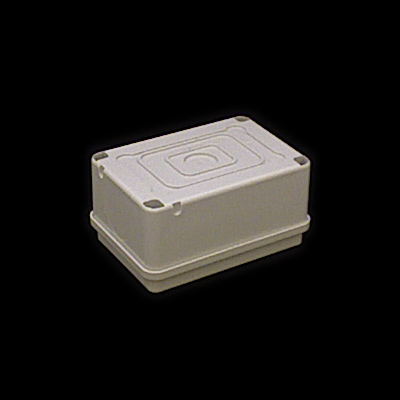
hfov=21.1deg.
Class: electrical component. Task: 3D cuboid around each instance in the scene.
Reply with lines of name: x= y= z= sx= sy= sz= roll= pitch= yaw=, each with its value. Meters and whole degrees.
electrical component: x=0.000 y=0.000 z=0.635 sx=0.113 sy=0.058 sz=0.077 roll=-16 pitch=35 yaw=-27
